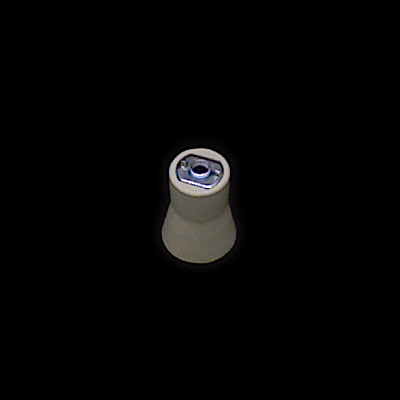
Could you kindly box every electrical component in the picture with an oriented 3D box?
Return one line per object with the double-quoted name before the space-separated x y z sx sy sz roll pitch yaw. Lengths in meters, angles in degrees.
"electrical component" 0.000 0.000 0.626 0.044 0.044 0.065 0 -37 0
